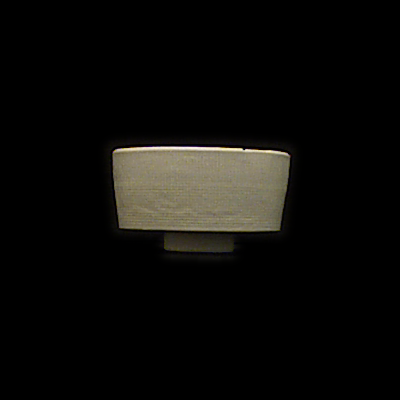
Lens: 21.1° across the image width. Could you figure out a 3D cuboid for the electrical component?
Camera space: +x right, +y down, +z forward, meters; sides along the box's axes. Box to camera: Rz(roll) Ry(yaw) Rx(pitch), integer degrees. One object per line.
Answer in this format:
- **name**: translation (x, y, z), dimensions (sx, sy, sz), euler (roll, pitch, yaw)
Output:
- **electrical component**: translation (0.000, 0.000, 0.656), dimensions (0.108, 0.060, 0.108), euler (1, 0, 0)
